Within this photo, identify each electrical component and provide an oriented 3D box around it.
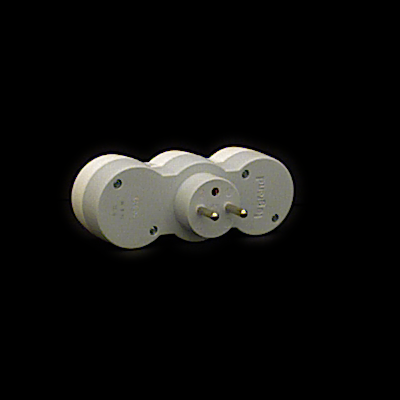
[{"bbox_3d":[0.000,0.000,0.648,0.139,0.052,0.072,-5,14,-30],"label":"electrical component"}]
